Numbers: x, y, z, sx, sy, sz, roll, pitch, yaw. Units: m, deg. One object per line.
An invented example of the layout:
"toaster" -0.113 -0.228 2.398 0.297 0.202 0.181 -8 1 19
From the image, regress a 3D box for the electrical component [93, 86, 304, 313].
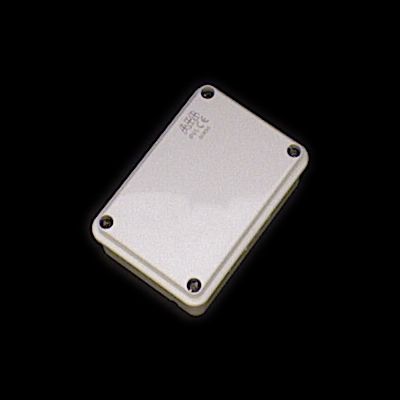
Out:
"electrical component" 0.000 0.000 0.627 0.078 0.113 0.057 35 -13 10
